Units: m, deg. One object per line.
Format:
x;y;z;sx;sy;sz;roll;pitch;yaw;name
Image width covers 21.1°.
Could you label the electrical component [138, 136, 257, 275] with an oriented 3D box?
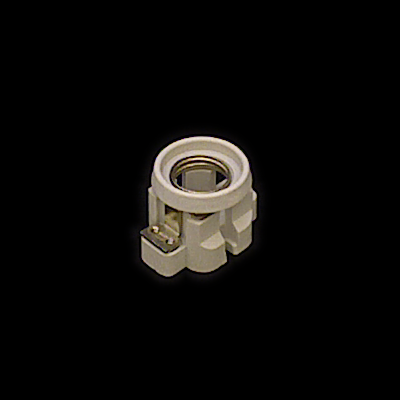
0.000;0.000;0.630;0.078;0.057;0.057;-33;52;-32;electrical component
